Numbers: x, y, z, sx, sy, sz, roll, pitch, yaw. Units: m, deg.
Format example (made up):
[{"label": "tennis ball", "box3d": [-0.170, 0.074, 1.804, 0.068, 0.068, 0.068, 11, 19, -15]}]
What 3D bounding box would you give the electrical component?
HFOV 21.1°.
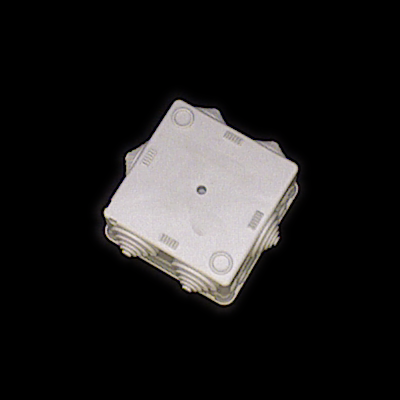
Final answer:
[{"label": "electrical component", "box3d": [0.000, 0.000, 0.631, 0.099, 0.100, 0.048, 30, -14, 8]}]
